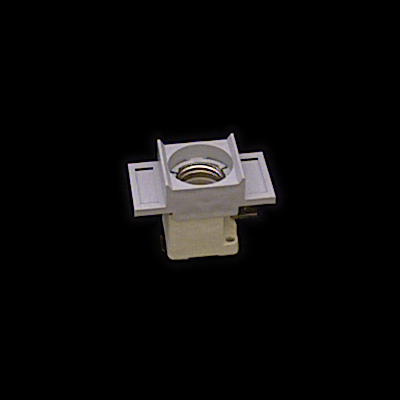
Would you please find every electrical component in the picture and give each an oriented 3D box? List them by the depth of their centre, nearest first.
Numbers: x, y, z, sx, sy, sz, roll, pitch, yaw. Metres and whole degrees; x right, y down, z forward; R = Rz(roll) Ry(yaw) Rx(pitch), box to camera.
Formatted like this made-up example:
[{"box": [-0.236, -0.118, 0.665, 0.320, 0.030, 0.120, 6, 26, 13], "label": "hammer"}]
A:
[{"box": [0.000, 0.000, 0.630, 0.081, 0.064, 0.041, -5, 41, -6], "label": "electrical component"}]
